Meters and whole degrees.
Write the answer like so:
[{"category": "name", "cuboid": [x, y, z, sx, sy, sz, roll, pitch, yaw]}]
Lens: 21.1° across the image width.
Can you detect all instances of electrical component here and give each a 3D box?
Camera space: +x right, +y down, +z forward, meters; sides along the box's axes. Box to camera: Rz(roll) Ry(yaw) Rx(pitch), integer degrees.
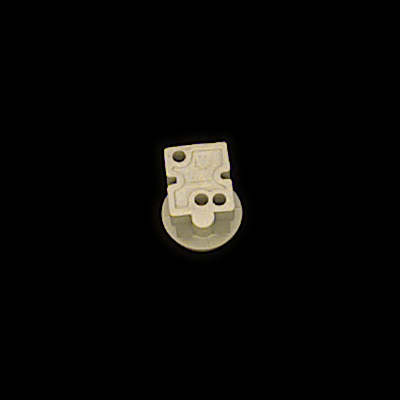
[{"category": "electrical component", "cuboid": [0.000, 0.000, 0.637, 0.048, 0.066, 0.055, -5, -27, -1]}]
